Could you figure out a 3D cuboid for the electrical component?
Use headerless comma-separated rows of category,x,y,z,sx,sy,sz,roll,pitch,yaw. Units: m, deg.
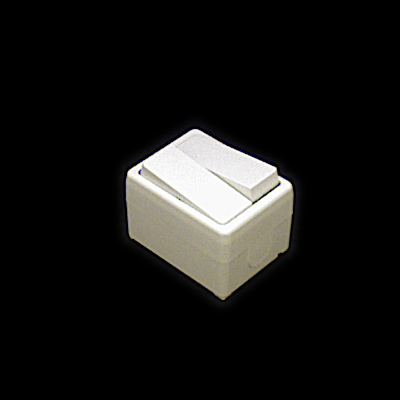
electrical component,0.000,0.000,0.632,0.095,0.061,0.061,32,50,30
